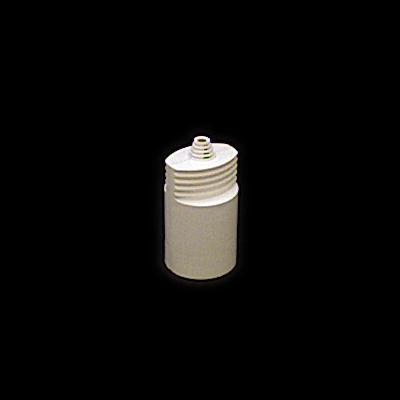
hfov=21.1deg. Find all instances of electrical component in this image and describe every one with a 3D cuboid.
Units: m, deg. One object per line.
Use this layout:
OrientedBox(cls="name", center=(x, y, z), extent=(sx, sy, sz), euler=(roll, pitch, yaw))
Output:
OrientedBox(cls="electrical component", center=(0.000, 0.000, 0.629), extent=(0.043, 0.082, 0.042), euler=(1, 31, 0))
